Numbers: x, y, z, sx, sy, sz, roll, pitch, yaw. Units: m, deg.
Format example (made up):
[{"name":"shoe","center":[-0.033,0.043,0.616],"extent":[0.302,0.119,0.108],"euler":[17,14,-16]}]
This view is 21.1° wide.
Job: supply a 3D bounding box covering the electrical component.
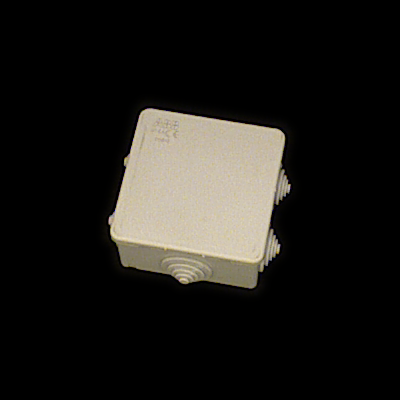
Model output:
[{"name":"electrical component","center":[0.000,0.000,0.640],"extent":[0.099,0.100,0.048],"euler":[10,-26,4]}]
